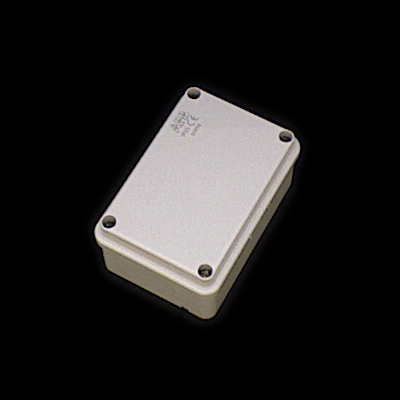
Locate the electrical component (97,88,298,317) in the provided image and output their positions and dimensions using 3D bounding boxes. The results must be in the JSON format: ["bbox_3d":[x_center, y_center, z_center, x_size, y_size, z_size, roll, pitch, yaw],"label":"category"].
[{"bbox_3d":[0.000,0.000,0.627,0.078,0.113,0.057,26,-24,12],"label":"electrical component"}]
